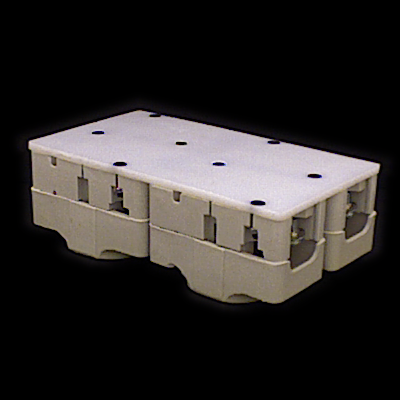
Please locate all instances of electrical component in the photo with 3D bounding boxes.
[{"bbox_3d":[0.000,0.000,0.639,0.185,0.061,0.105,16,25,34],"label":"electrical component"}]
